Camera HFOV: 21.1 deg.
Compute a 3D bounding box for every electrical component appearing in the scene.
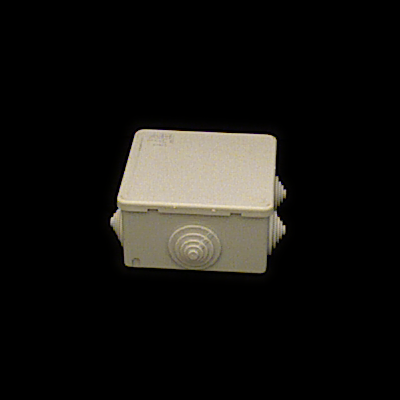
[{"bbox_3d":[0.000,0.000,0.645,0.099,0.049,0.099,3,32,3],"label":"electrical component"}]
